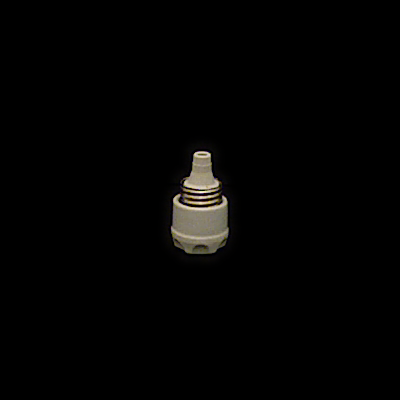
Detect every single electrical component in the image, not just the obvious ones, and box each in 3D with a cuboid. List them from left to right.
[{"bbox_3d":[0.000,0.000,0.653,0.035,0.062,0.034,2,23,0],"label":"electrical component"}]
